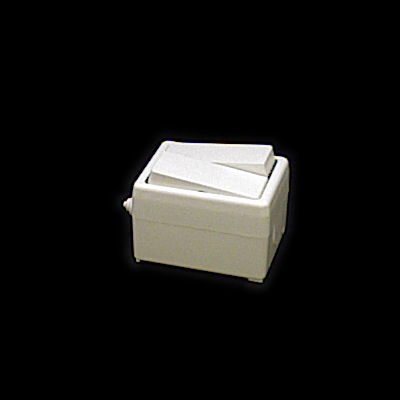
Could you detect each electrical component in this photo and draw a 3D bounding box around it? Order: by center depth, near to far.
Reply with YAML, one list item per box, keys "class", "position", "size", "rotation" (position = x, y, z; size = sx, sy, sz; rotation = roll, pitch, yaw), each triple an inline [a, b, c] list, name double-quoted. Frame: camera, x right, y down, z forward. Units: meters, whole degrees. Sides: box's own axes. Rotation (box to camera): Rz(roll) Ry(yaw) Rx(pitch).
- class: "electrical component"
  position: [0.000, 0.000, 0.635]
  size: [0.096, 0.061, 0.061]
  rotation: [9, 32, 13]
